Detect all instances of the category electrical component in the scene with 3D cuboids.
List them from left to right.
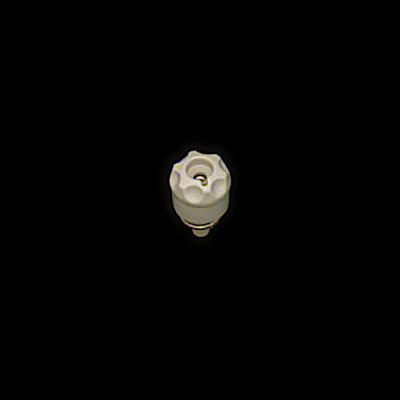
[{"bbox_3d":[0.000,0.000,0.633,0.035,0.035,0.061,0,-37,0],"label":"electrical component"}]
